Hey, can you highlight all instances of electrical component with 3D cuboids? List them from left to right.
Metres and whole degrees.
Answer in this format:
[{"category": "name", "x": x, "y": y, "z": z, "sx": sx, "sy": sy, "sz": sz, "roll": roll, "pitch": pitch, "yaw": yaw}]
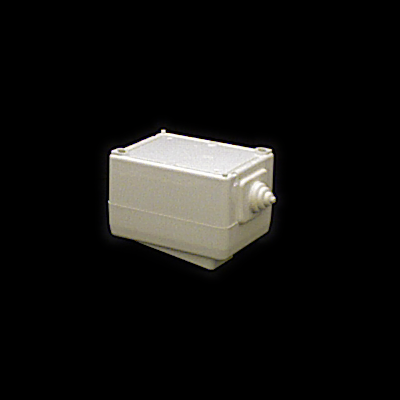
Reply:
[{"category": "electrical component", "x": 0.000, "y": 0.000, "z": 0.637, "sx": 0.096, "sy": 0.061, "sz": 0.061, "roll": 12, "pitch": 23, "yaw": 28}]
